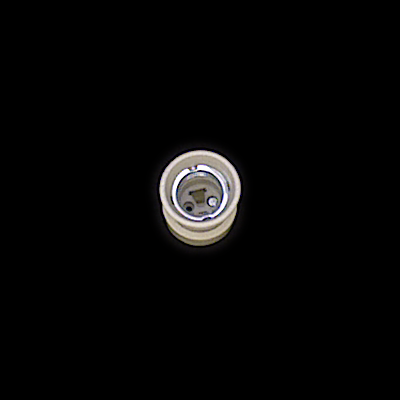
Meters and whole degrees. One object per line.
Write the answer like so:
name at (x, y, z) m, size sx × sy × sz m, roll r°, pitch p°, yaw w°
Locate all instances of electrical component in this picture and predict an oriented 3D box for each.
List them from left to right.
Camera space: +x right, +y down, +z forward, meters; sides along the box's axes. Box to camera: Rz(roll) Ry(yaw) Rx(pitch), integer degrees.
electrical component at (0.000, 0.000, 0.628) m, size 0.045 × 0.045 × 0.055 m, roll 0°, pitch -16°, yaw 0°
